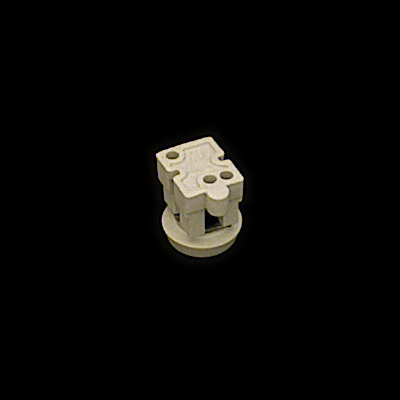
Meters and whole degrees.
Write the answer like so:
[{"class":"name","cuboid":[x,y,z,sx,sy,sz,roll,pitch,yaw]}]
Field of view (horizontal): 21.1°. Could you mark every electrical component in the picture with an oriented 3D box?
[{"class":"electrical component","cuboid":[0.000,0.000,0.640,0.048,0.056,0.065,-18,45,-18]}]
